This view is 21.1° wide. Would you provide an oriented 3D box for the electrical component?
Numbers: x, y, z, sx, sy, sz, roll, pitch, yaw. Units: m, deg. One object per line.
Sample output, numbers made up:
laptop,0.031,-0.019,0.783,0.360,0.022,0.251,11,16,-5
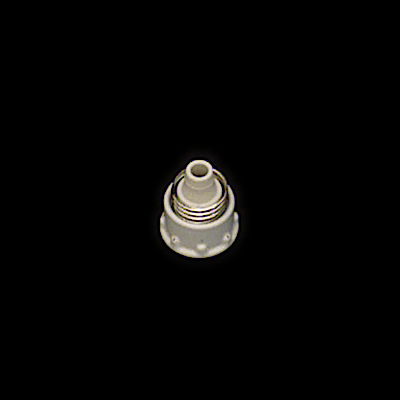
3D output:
electrical component,0.000,0.000,0.634,0.048,0.048,0.062,0,-36,0
